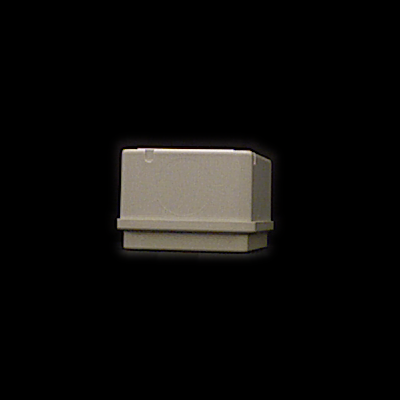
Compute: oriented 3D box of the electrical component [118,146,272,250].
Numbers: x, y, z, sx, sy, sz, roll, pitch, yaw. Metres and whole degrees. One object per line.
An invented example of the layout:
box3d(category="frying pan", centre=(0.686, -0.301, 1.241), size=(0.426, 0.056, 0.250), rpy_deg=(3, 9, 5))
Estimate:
box3d(category="electrical component", centre=(0.000, 0.000, 0.650), size=(0.078, 0.057, 0.113), rpy_deg=(1, 0, 10))
